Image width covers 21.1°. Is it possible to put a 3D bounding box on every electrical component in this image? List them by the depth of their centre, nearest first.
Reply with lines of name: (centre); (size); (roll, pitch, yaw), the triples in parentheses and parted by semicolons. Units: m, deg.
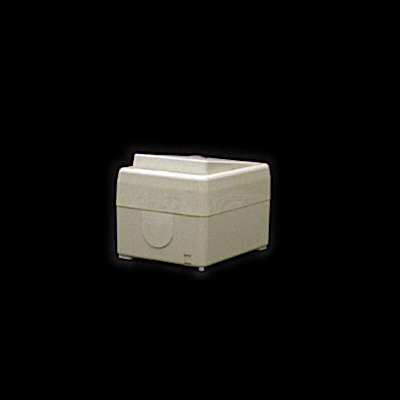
electrical component: (0.000, 0.000, 0.646); (0.061, 0.061, 0.096); (8, 12, 31)
